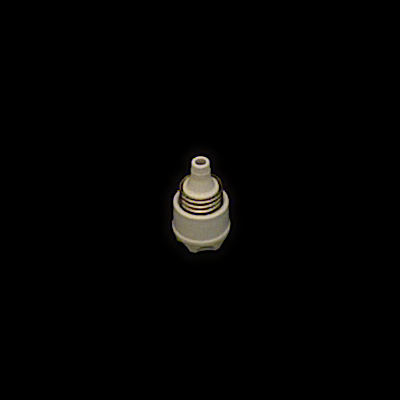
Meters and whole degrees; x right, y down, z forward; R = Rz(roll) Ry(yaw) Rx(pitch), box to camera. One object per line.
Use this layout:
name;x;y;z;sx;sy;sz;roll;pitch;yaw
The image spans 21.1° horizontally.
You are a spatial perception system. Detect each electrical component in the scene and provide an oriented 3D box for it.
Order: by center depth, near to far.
electrical component;0.000;0.000;0.641;0.035;0.062;0.035;0;41;0
